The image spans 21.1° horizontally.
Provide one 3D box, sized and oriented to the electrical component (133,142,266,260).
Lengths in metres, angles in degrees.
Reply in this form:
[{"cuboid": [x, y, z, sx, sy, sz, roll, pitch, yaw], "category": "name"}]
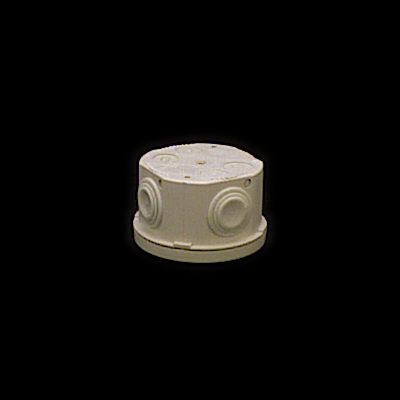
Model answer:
[{"cuboid": [0.000, 0.000, 0.639, 0.080, 0.051, 0.079, 1, 22, 0], "category": "electrical component"}]
